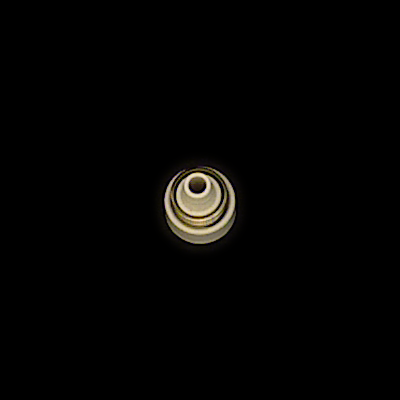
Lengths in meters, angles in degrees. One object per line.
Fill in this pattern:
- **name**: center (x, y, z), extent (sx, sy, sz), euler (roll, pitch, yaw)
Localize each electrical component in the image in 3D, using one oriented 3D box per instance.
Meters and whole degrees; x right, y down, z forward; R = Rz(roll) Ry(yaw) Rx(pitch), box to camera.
- **electrical component**: center (0.000, 0.000, 0.634), extent (0.043, 0.043, 0.061), euler (0, -17, 1)
